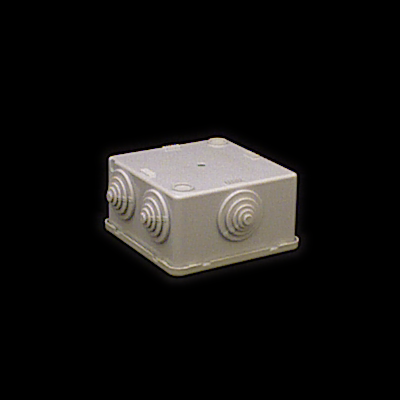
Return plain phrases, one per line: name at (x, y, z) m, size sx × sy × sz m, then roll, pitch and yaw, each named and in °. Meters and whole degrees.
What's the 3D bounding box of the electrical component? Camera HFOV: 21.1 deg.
electrical component at (0.000, 0.000, 0.641) m, size 0.100 × 0.049 × 0.098 m, roll -11°, pitch 24°, yaw -30°
